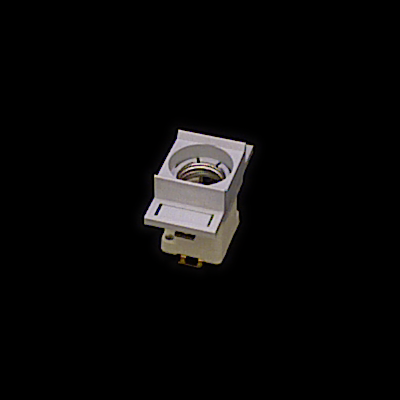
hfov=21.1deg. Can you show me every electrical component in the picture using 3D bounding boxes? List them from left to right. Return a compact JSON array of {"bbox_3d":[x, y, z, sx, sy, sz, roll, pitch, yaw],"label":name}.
[{"bbox_3d":[0.000,0.000,0.631,0.042,0.064,0.080,12,43,13],"label":"electrical component"}]
